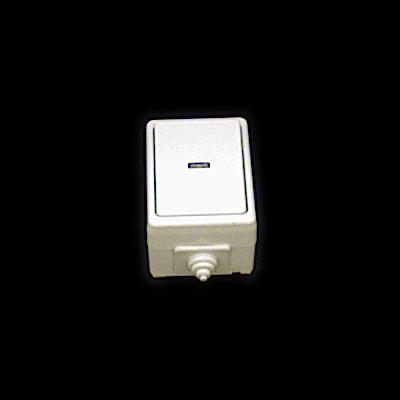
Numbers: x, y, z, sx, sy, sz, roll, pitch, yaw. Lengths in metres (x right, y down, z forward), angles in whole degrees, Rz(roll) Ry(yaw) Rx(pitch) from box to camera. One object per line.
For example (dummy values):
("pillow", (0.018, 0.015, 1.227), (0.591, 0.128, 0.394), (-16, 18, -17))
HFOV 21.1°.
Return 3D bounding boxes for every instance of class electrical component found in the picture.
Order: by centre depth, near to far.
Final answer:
("electrical component", (0.000, 0.000, 0.626), (0.062, 0.096, 0.061), (-2, -38, -2))
